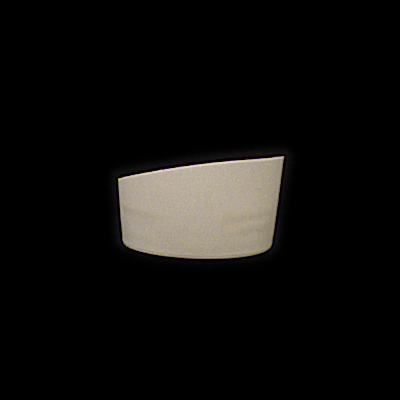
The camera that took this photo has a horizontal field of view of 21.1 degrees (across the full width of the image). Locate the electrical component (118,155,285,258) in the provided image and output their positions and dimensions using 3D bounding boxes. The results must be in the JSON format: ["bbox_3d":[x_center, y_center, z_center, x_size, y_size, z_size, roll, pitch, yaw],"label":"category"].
[{"bbox_3d":[0.000,0.000,0.644,0.099,0.064,0.098,2,10,0],"label":"electrical component"}]
